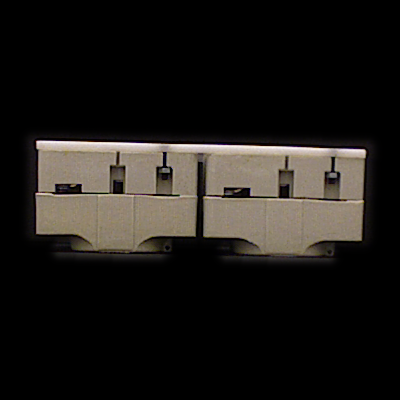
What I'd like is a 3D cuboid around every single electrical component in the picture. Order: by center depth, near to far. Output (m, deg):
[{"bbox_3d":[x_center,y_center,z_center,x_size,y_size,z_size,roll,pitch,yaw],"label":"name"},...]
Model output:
[{"bbox_3d":[0.000,0.000,0.650,0.186,0.060,0.105,1,-1,0],"label":"electrical component"}]
